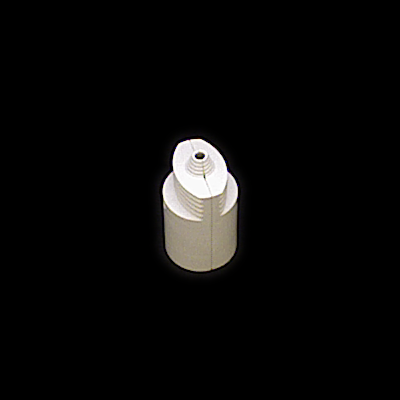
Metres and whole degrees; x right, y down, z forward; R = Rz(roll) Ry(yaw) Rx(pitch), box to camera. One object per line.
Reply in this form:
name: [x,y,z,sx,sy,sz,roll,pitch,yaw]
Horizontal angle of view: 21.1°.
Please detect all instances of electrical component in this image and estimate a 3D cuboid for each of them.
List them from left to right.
electrical component: [0.000,0.000,0.620,0.043,0.043,0.081,0,-38,0]
